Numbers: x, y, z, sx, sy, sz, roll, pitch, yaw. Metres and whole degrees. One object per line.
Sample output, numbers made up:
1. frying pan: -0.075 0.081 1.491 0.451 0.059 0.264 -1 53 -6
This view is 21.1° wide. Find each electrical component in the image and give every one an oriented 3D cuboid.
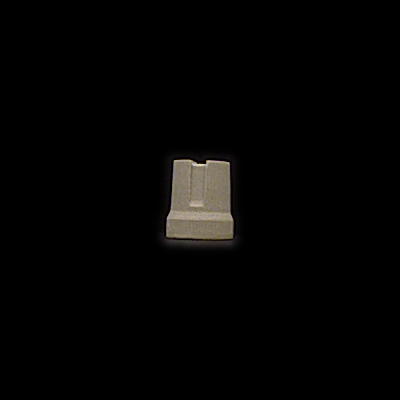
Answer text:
1. electrical component: 0.000 0.000 0.651 0.040 0.046 0.040 2 2 0
